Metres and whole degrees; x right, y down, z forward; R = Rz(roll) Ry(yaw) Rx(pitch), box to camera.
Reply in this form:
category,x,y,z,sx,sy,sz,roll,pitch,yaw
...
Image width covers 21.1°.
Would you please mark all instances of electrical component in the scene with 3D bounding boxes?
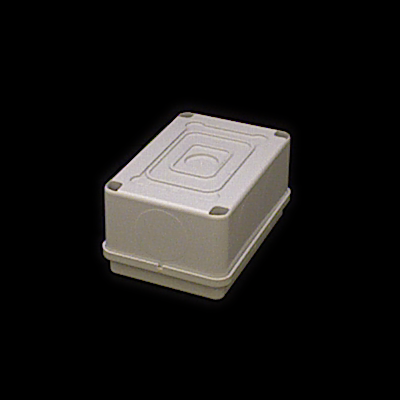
category,x,y,z,sx,sy,sz,roll,pitch,yaw
electrical component,0.000,0.000,0.635,0.078,0.058,0.112,14,34,19
